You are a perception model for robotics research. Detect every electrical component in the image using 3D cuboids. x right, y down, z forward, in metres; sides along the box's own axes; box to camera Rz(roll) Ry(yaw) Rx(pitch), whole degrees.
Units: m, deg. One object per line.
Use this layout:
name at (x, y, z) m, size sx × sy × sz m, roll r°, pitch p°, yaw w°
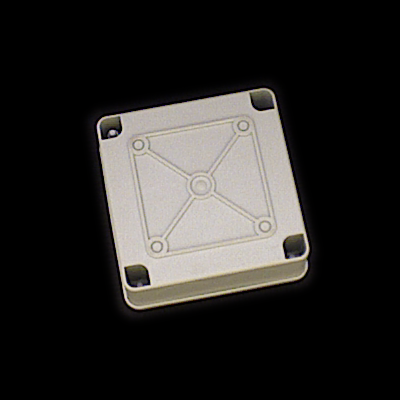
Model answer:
electrical component at (0.000, 0.000, 0.628) m, size 0.109 × 0.109 × 0.056 m, roll -10°, pitch -17°, yaw -3°
